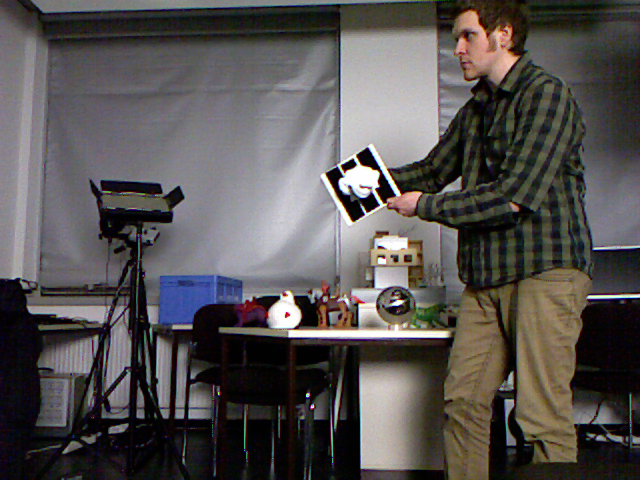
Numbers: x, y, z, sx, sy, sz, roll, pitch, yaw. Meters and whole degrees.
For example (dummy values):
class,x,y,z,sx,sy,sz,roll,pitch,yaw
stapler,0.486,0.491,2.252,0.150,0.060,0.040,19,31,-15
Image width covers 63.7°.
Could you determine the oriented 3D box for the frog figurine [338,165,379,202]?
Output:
class,x,y,z,sx,sy,sz,roll,pitch,yaw
frog figurine,0.125,-0.191,1.674,0.137,0.123,0.159,-9,-6,6
